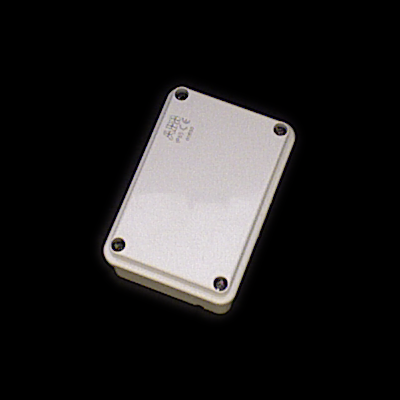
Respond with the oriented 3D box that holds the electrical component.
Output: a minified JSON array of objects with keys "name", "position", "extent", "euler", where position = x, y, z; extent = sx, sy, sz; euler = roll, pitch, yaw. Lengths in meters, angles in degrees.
[{"name":"electrical component","position":[0.000,0.000,0.627],"extent":[0.078,0.113,0.057],"euler":[20,-15,6]}]
